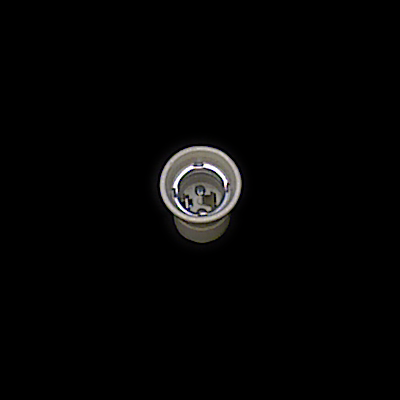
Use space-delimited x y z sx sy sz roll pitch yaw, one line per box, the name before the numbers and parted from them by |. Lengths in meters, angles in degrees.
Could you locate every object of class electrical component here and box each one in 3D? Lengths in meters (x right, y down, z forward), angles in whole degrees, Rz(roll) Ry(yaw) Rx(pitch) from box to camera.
electrical component | 0.000 0.000 0.625 0.044 0.044 0.065 0 -18 1
